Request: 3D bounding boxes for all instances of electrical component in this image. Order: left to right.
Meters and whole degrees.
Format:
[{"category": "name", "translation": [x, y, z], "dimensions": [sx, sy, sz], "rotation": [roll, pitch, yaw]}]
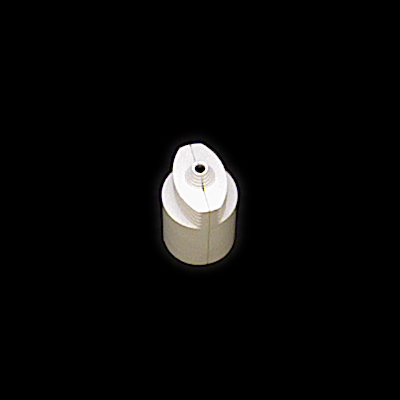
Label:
[{"category": "electrical component", "translation": [0.000, 0.000, 0.617], "dimensions": [0.043, 0.043, 0.081], "rotation": [0, -27, 0]}]
